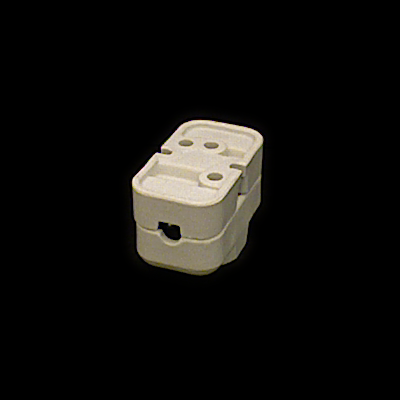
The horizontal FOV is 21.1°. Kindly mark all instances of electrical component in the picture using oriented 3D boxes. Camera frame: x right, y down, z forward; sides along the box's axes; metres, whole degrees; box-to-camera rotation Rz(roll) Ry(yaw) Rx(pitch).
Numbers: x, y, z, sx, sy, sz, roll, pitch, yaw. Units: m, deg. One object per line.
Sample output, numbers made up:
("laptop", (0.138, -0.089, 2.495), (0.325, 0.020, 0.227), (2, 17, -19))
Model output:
("electrical component", (0.000, 0.000, 0.641), (0.053, 0.060, 0.095), (12, 34, 18))
